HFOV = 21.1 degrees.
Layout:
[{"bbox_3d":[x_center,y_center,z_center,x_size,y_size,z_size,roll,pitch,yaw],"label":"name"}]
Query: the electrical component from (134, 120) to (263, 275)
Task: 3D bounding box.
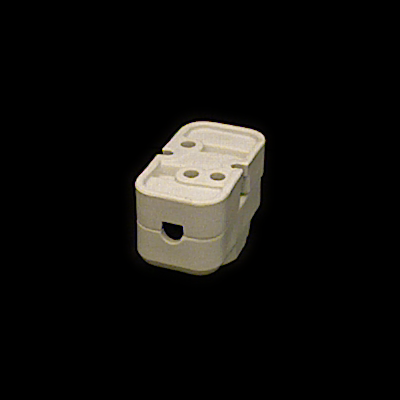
[{"bbox_3d":[0.000,0.000,0.642,0.053,0.060,0.094,12,33,17],"label":"electrical component"}]
